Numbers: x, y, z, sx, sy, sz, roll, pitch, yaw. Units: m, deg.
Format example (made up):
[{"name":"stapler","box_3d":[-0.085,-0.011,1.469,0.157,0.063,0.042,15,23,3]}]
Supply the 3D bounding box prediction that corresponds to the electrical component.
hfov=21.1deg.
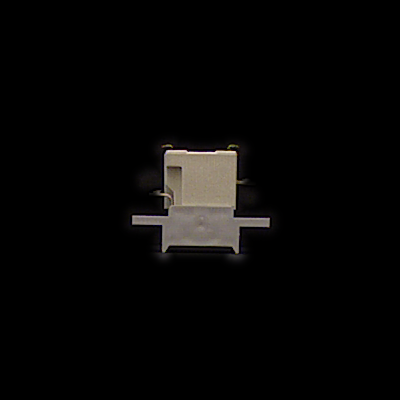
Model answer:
[{"name":"electrical component","box_3d":[0.000,0.000,0.649,0.081,0.064,0.042,2,1,-4]}]
